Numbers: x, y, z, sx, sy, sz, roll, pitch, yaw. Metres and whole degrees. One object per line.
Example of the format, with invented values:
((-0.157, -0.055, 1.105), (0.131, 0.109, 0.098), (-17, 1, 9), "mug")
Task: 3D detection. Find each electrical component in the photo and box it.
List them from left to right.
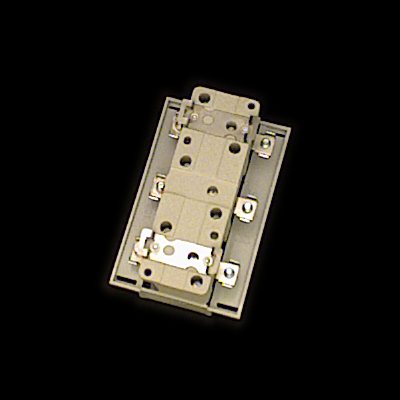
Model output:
((0.000, 0.000, 0.633), (0.078, 0.122, 0.062), (15, -16, 5), "electrical component")
